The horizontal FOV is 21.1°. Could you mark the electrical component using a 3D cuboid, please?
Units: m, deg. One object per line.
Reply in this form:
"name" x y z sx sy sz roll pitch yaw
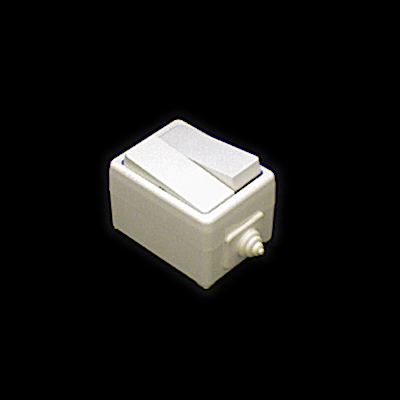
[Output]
"electrical component" 0.000 0.000 0.629 0.096 0.061 0.061 32 50 30
